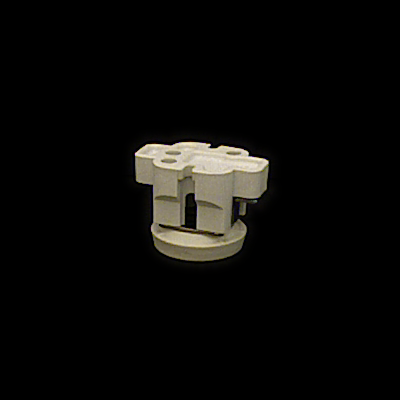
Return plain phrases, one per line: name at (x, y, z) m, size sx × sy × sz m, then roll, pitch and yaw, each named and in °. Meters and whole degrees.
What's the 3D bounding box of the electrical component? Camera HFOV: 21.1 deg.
electrical component at (0.000, 0.000, 0.647) m, size 0.078 × 0.057 × 0.057 m, roll 9°, pitch 22°, yaw 15°
